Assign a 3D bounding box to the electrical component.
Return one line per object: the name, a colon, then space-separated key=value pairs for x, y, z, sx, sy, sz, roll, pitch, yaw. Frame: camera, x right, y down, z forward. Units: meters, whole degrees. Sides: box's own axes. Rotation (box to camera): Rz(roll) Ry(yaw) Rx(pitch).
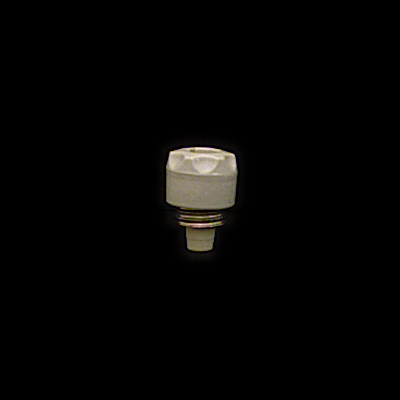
electrical component: x=0.000 y=0.000 z=0.650 sx=0.043 sy=0.062 sz=0.043 roll=2 pitch=13 yaw=0
